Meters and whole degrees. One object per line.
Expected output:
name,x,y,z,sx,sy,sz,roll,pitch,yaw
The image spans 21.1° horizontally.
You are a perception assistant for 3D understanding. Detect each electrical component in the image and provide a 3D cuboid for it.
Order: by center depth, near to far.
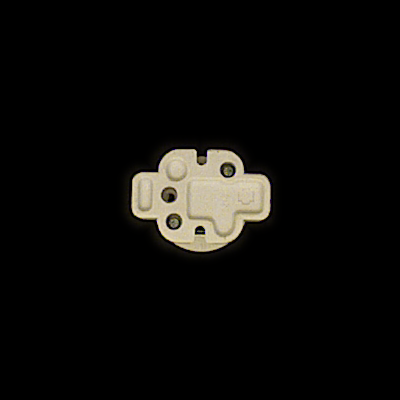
electrical component,0.000,0.000,0.637,0.078,0.058,0.056,0,-6,-1
